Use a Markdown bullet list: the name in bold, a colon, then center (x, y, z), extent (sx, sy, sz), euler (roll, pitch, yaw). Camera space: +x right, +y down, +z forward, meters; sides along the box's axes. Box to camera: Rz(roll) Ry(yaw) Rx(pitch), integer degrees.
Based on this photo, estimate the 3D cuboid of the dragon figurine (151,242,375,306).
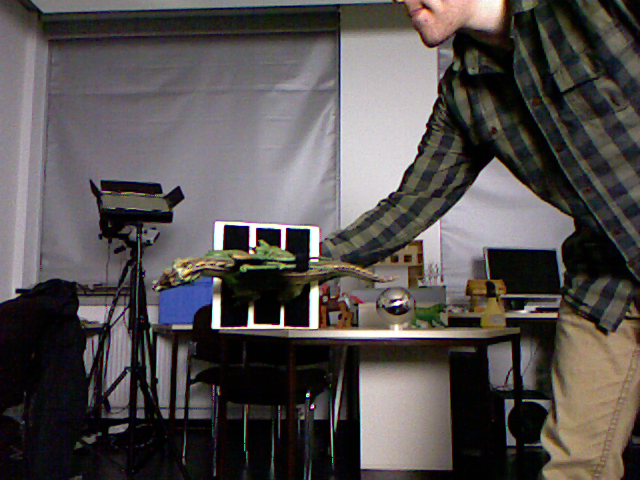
- **dragon figurine**: center (-0.070, 0.054, 0.876), extent (0.411, 0.123, 0.242), euler (-3, -5, -13)
